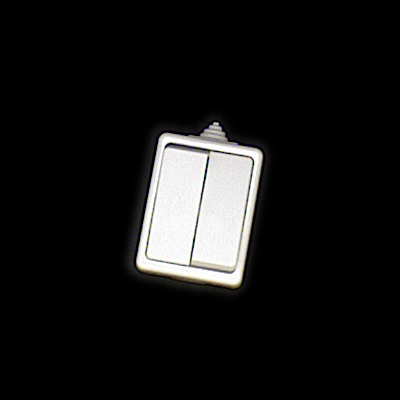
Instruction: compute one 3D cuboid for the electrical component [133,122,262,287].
[{"bbox_3d":[0.000,0.000,0.627,0.062,0.096,0.061,10,-7,2],"label":"electrical component"}]
